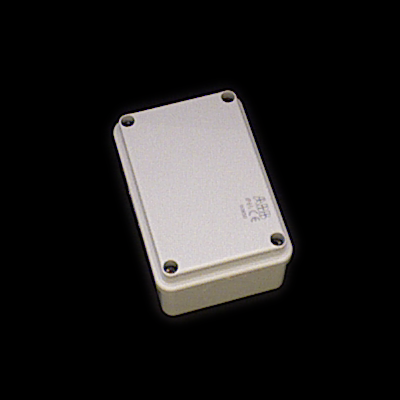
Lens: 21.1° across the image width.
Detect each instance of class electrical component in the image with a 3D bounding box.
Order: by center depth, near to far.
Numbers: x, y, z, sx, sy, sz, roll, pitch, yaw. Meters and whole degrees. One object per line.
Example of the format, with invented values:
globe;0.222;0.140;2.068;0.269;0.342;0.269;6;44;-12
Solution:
electrical component;0.000;0.000;0.627;0.078;0.113;0.057;-14;-26;-8
